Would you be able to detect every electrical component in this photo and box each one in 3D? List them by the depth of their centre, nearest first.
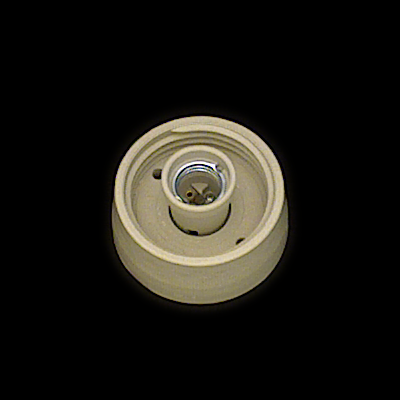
[{"bbox_3d":[0.000,0.000,0.634,0.108,0.108,0.060,0,-27,0],"label":"electrical component"}]
